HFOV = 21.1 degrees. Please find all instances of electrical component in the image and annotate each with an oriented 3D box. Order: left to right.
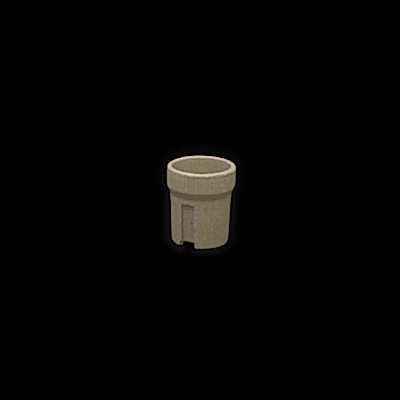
[{"bbox_3d":[0.000,0.000,0.642,0.040,0.047,0.039,1,21,0],"label":"electrical component"}]
